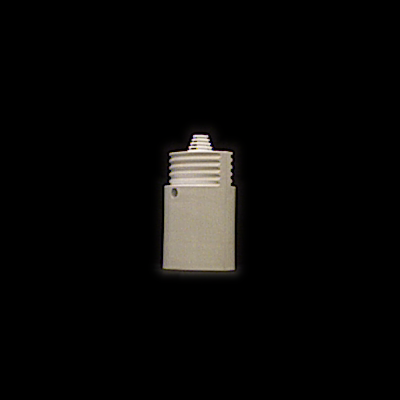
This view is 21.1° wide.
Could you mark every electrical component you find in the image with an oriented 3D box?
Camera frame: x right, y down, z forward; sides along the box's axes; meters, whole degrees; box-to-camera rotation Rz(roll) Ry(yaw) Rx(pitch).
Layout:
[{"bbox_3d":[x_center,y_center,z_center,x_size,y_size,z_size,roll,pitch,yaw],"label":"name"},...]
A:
[{"bbox_3d":[0.000,0.000,0.650,0.043,0.081,0.043,1,1,0],"label":"electrical component"}]
